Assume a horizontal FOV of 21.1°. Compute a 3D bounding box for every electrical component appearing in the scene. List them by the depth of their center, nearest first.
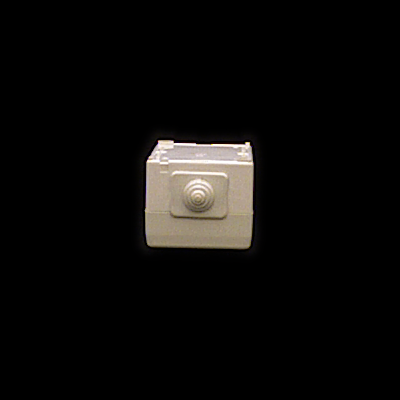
[{"bbox_3d":[0.000,0.000,0.643,0.062,0.061,0.095,1,11,1],"label":"electrical component"}]
